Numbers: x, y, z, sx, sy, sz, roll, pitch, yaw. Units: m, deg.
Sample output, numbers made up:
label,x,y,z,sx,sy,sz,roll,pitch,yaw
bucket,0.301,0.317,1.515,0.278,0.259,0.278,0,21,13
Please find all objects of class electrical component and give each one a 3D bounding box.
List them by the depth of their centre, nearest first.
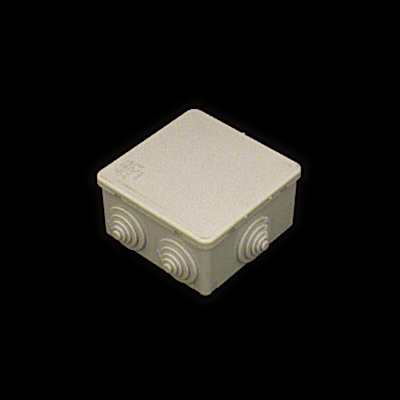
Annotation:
label,x,y,z,sx,sy,sz,roll,pitch,yaw
electrical component,0.000,0.000,0.641,0.098,0.049,0.100,31,51,28
